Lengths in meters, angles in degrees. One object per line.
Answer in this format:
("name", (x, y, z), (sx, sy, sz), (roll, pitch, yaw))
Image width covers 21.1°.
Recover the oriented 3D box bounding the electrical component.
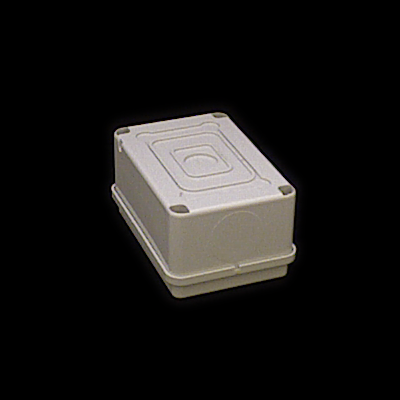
("electrical component", (0.000, 0.000, 0.635), (0.078, 0.058, 0.111), (-11, 34, -19))
